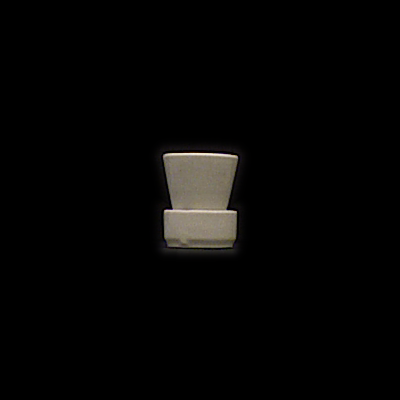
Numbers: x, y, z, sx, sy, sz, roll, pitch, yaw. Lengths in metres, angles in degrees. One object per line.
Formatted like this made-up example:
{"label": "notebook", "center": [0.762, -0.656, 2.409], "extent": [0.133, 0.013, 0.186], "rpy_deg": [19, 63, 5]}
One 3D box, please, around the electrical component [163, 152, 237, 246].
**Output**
{"label": "electrical component", "center": [0.000, 0.000, 0.648], "extent": [0.045, 0.055, 0.045], "rpy_deg": [1, 0, 0]}
